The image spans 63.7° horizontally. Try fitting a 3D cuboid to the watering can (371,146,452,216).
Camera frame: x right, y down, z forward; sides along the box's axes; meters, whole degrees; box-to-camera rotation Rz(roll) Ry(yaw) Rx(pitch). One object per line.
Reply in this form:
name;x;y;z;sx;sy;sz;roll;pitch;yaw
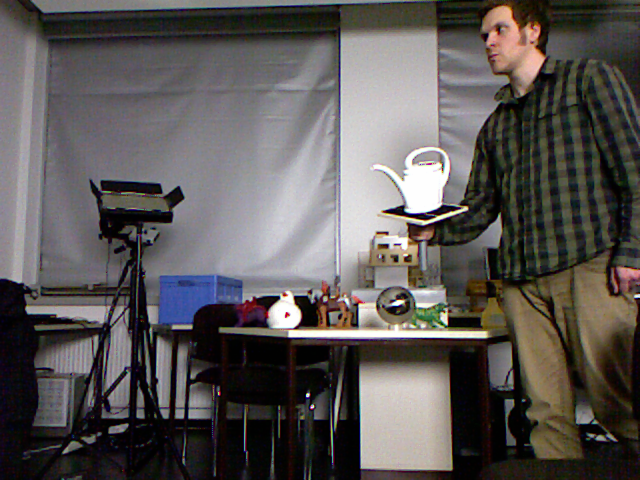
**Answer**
watering can;0.293;-0.175;1.617;0.351;0.221;0.105;-18;23;-33
